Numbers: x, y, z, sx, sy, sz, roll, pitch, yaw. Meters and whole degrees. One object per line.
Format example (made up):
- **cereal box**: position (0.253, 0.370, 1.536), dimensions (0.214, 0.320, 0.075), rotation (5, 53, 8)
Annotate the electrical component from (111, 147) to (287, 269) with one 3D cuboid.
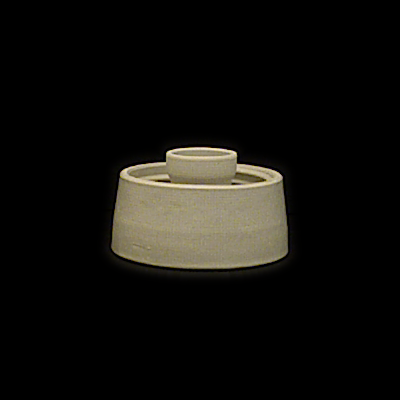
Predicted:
- **electrical component**: position (0.000, 0.000, 0.652), dimensions (0.108, 0.061, 0.107), rotation (1, 11, 0)
